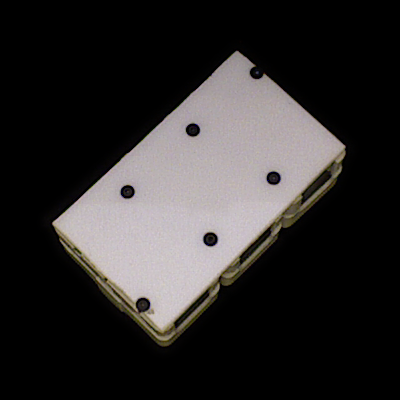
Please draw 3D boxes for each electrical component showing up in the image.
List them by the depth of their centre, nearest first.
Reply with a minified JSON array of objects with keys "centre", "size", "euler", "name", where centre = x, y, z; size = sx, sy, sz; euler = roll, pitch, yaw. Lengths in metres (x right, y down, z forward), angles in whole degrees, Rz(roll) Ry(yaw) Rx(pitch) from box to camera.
[{"centre":[0.000,0.000,0.631],"size":[0.150,0.089,0.062],"euler":[-44,-12,-12],"name":"electrical component"}]
